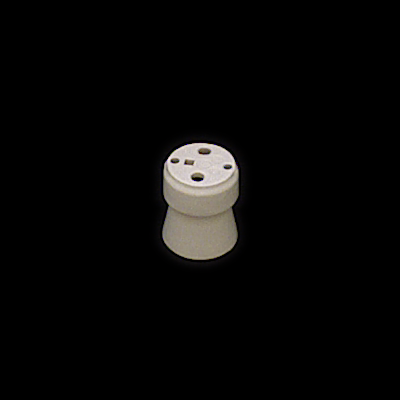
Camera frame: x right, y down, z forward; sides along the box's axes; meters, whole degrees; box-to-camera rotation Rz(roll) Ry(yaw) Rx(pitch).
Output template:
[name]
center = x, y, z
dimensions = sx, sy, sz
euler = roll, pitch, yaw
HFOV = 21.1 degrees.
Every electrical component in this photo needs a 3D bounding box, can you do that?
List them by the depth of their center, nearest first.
[electrical component]
center = 0.000, 0.000, 0.633
dimensions = 0.045, 0.055, 0.044
euler = 1, 42, -1
